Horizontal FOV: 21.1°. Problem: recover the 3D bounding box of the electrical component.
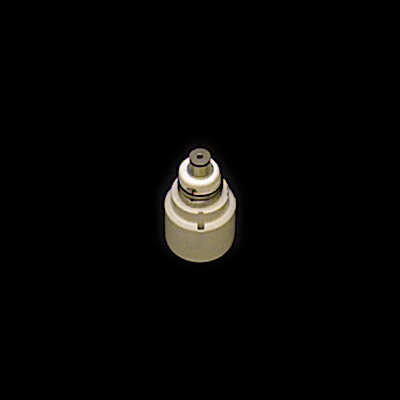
[{"bbox_3d":[0.000,0.000,0.620,0.040,0.040,0.078,0,-39,0],"label":"electrical component"}]
